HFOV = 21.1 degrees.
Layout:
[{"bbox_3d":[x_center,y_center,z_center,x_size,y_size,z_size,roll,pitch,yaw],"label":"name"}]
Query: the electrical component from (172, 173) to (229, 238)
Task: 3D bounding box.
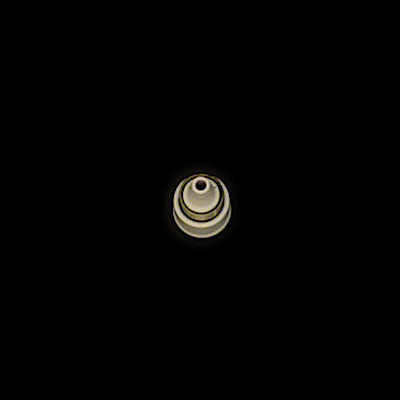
[{"bbox_3d":[0.000,0.000,0.637,0.035,0.035,0.061,0,-17,0],"label":"electrical component"}]
